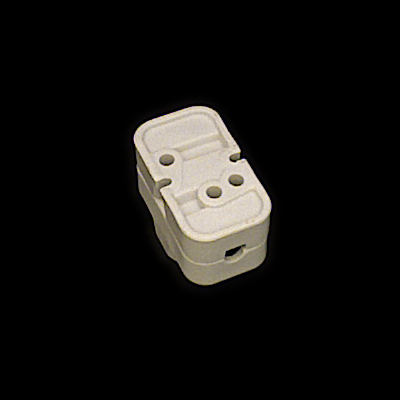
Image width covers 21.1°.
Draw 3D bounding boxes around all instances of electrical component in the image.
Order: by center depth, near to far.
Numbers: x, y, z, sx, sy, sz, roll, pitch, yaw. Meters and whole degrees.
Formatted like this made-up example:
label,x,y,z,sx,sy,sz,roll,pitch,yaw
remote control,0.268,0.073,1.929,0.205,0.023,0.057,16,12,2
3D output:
label,x,y,z,sx,sy,sz,roll,pitch,yaw
electrical component,0.000,0.000,0.637,0.054,0.094,0.059,-20,-35,-14
